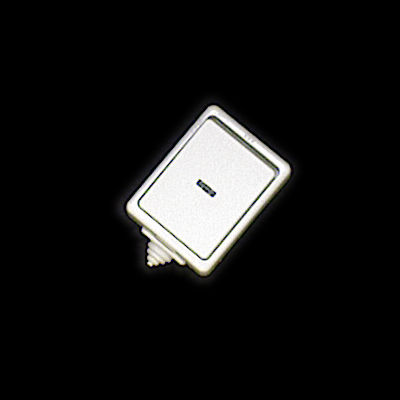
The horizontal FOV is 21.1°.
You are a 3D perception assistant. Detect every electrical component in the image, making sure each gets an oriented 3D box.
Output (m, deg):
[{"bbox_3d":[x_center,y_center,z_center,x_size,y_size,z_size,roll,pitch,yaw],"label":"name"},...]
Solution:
[{"bbox_3d":[0.000,0.000,0.626,0.062,0.096,0.061,39,-5,5],"label":"electrical component"}]
